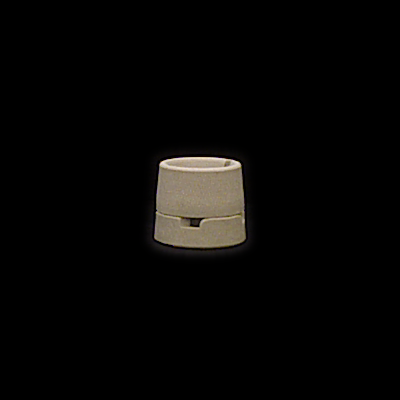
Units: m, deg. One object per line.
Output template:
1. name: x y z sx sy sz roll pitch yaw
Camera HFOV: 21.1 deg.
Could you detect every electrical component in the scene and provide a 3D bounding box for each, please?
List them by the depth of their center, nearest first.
1. electrical component: 0.000 0.000 0.645 0.055 0.047 0.055 0 11 0
